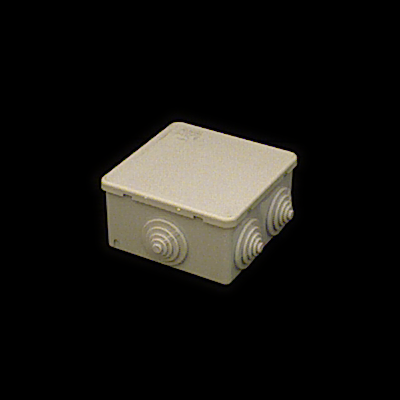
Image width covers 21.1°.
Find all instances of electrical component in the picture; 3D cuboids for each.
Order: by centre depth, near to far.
[{"bbox_3d":[0.000,0.000,0.645,0.098,0.049,0.100,17,36,24],"label":"electrical component"}]
